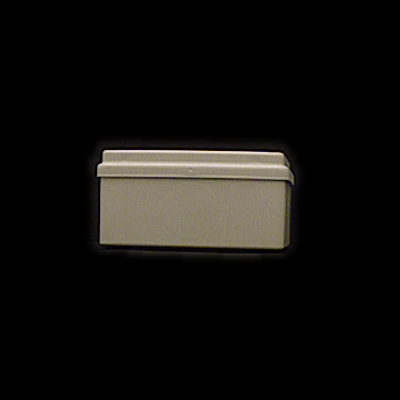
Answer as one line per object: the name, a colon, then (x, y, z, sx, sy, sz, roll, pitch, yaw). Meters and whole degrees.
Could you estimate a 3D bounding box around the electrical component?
electrical component: (0.000, 0.000, 0.651, 0.108, 0.056, 0.109, 1, 0, 6)
